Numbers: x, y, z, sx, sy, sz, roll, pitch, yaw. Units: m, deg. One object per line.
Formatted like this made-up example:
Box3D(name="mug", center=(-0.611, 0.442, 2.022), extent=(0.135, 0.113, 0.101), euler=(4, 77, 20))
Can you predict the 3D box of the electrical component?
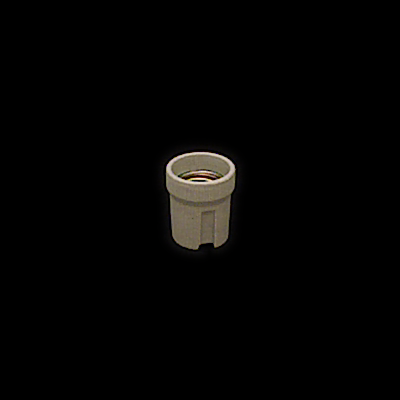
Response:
Box3D(name="electrical component", center=(0.000, 0.000, 0.638), extent=(0.040, 0.047, 0.039), euler=(1, 31, 0))
